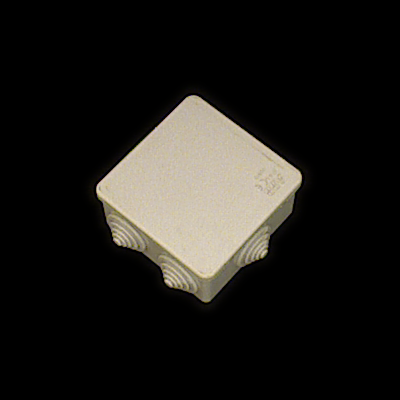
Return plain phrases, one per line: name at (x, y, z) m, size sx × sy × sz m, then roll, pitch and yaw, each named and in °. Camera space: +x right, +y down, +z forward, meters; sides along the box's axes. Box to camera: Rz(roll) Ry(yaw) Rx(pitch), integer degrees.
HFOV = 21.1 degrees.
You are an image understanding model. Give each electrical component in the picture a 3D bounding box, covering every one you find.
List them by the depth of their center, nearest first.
electrical component at (0.000, 0.000, 0.640) m, size 0.099 × 0.100 × 0.048 m, roll 38°, pitch -21°, yaw 17°
